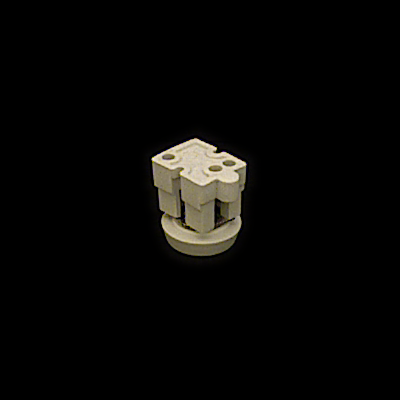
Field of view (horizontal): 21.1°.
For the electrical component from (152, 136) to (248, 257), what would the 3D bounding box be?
[{"bbox_3d":[0.000,0.000,0.643,0.048,0.056,0.065,-27,41,-35],"label":"electrical component"}]
